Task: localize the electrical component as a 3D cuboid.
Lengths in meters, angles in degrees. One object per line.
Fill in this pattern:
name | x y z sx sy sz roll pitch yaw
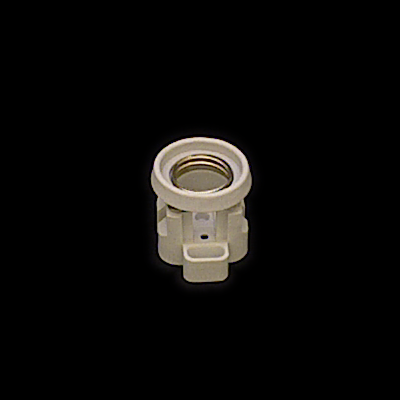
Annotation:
electrical component | 0.000 0.000 0.633 0.058 0.057 0.077 -3 42 -4
